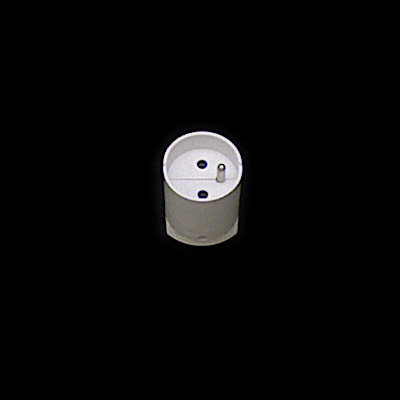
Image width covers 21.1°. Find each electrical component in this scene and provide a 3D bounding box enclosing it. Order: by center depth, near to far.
[{"bbox_3d":[0.000,0.000,0.618,0.043,0.043,0.081,0,-27,-1],"label":"electrical component"}]
